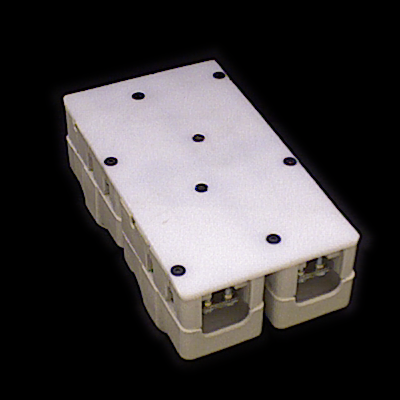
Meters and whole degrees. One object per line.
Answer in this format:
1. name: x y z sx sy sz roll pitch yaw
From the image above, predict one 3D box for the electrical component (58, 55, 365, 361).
1. electrical component: 0.000 0.000 0.630 0.105 0.061 0.184 -17 45 -18
